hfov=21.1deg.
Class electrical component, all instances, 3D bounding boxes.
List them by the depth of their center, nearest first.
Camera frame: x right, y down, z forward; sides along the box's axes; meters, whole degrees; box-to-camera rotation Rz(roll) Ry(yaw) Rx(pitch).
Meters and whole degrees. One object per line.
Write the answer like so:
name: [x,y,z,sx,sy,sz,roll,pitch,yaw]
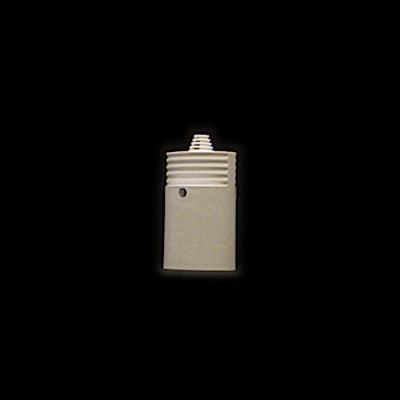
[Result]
electrical component: [0.000,0.000,0.650,0.043,0.081,0.043,1,1,0]
